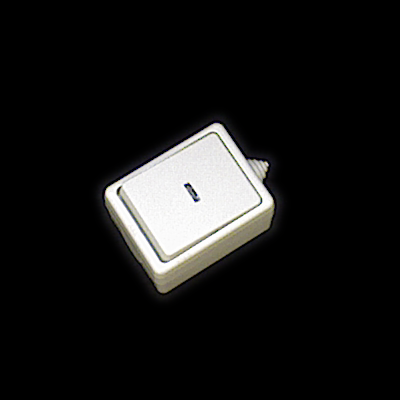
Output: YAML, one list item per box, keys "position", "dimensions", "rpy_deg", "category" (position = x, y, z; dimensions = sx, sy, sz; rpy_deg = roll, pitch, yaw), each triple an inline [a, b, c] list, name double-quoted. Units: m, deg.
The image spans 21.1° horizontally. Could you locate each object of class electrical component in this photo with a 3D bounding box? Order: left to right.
- position: [0.000, 0.000, 0.626]
  dimensions: [0.096, 0.062, 0.060]
  rpy_deg: [-32, -14, -9]
  category: "electrical component"
